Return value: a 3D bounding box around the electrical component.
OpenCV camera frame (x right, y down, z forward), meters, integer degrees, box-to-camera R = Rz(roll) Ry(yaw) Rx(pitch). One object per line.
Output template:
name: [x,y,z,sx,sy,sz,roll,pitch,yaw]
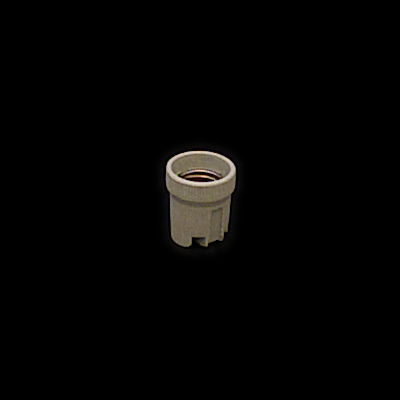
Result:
electrical component: [0.000,0.000,0.634,0.040,0.047,0.039,1,32,0]
